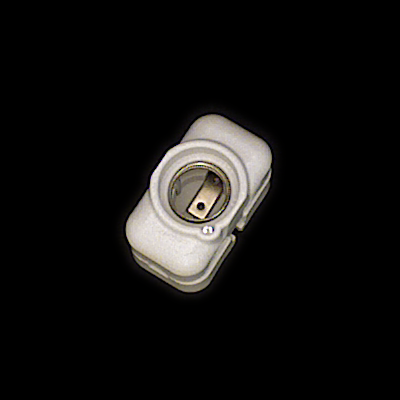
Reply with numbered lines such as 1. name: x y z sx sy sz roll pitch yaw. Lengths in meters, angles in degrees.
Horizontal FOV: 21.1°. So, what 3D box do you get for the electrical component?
1. electrical component: 0.000 0.000 0.633 0.053 0.095 0.059 31 -13 9
